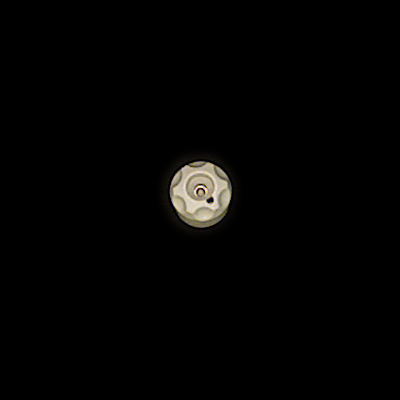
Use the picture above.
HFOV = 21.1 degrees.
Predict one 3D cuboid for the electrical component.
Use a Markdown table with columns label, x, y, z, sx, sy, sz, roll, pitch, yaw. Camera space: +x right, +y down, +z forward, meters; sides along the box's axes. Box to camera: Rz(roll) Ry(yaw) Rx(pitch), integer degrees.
| label | x | y | z | sx | sy | sz | roll | pitch | yaw |
| --- | --- | --- | --- | --- | --- | --- | --- | --- | --- |
| electrical component | 0.000 | 0.000 | 0.633 | 0.035 | 0.035 | 0.061 | 0 | -15 | 1 |
